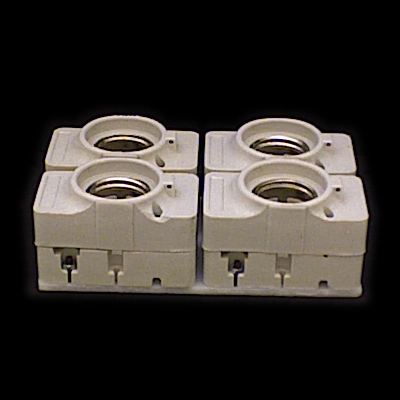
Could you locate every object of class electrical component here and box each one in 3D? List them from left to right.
[{"bbox_3d":[0.000,0.000,0.635,0.186,0.061,0.104,1,31,0],"label":"electrical component"}]
